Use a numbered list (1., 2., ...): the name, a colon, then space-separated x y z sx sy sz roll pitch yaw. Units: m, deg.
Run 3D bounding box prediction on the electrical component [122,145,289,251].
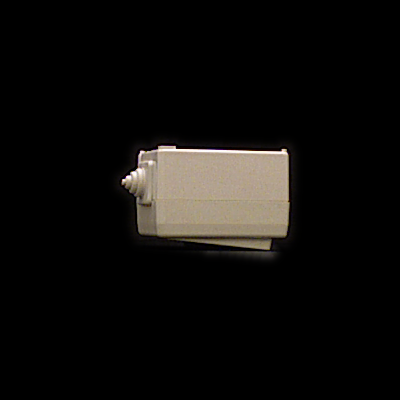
1. electrical component: 0.000 0.000 0.652 0.096 0.061 0.061 1 1 -16
